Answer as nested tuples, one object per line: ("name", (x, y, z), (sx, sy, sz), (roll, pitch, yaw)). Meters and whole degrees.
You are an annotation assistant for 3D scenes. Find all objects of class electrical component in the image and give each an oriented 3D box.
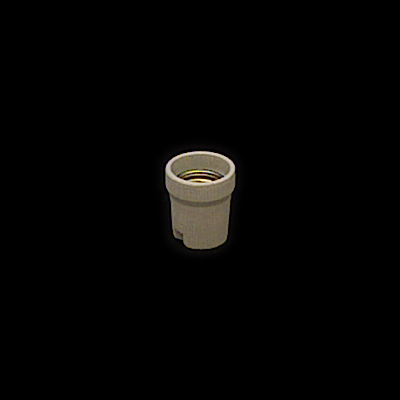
("electrical component", (0.000, 0.000, 0.636), (0.040, 0.047, 0.039), (1, 32, 0))
